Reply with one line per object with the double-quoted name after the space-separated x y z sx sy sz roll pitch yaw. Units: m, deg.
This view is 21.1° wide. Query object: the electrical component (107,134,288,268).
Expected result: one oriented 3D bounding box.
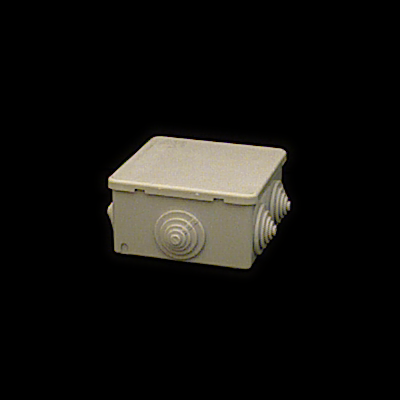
0.000 0.000 0.649 0.099 0.049 0.099 7 22 14 "electrical component"
